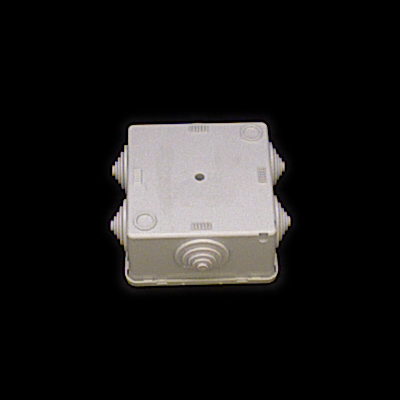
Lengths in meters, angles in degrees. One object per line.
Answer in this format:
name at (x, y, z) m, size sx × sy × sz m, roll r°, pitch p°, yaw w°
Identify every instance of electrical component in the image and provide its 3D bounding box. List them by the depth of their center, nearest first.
electrical component at (0.000, 0.000, 0.632) m, size 0.100 × 0.099 × 0.049 m, roll -1°, pitch -37°, yaw -2°
